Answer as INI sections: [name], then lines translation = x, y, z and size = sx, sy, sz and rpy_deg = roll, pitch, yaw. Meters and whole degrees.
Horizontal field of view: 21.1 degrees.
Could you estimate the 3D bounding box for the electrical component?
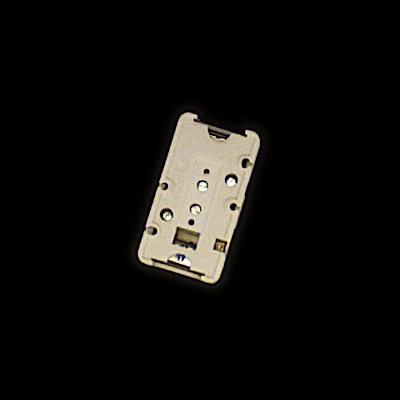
[electrical component]
translation = 0.000, 0.000, 0.637
size = 0.050, 0.090, 0.055
rpy_deg = 17, -5, 1
